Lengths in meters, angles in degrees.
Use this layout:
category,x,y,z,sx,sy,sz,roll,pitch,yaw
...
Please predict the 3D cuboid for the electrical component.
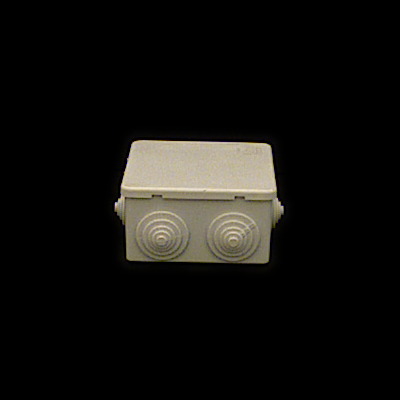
category,x,y,z,sx,sy,sz,roll,pitch,yaw
electrical component,0.000,0.000,0.650,0.100,0.049,0.098,1,22,0
